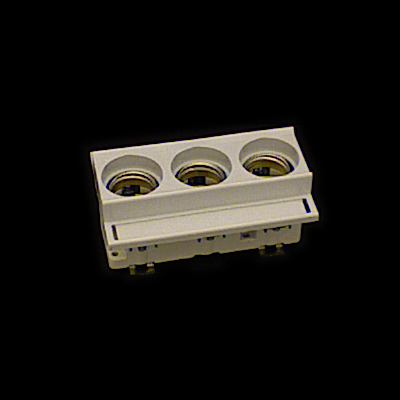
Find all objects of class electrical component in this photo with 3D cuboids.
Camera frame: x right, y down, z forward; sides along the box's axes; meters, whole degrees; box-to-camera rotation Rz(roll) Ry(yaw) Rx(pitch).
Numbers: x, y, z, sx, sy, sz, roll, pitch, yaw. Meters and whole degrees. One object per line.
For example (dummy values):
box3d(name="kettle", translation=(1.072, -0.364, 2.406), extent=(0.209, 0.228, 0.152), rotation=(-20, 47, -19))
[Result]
box3d(name="electrical component", translation=(0.000, 0.000, 0.642), extent=(0.121, 0.064, 0.077), rotation=(-7, 45, -9))
